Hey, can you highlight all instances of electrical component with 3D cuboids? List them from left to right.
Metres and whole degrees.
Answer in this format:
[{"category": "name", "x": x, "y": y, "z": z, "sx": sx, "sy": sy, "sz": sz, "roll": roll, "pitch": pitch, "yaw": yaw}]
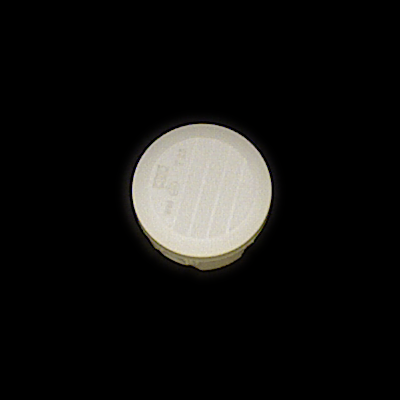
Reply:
[{"category": "electrical component", "x": 0.000, "y": 0.000, "z": 0.631, "sx": 0.080, "sy": 0.080, "sz": 0.050, "roll": 0, "pitch": -17, "yaw": 0}]
